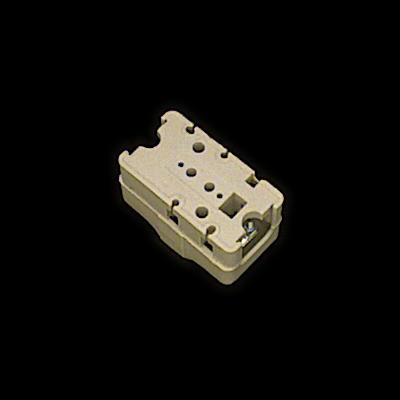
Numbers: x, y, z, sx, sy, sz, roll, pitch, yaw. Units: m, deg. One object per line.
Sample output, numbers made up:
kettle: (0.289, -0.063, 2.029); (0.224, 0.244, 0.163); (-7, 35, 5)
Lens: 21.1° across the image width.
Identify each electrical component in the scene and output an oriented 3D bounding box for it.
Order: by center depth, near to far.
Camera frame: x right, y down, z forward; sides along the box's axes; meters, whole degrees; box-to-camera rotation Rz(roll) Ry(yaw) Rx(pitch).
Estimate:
electrical component: (0.000, 0.000, 0.636); (0.089, 0.050, 0.055); (39, -21, 17)
